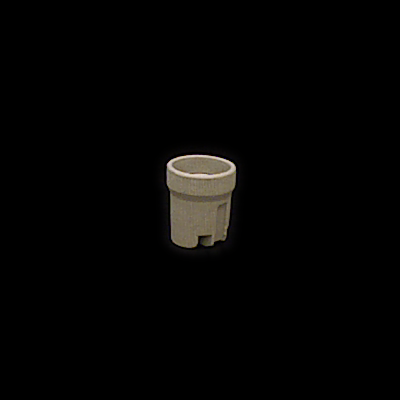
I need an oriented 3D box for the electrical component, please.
[{"bbox_3d":[0.000,0.000,0.638,0.040,0.047,0.039,1,21,0],"label":"electrical component"}]
